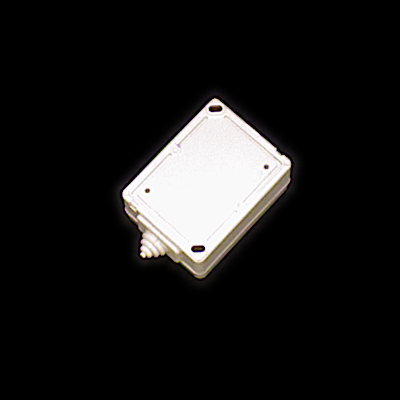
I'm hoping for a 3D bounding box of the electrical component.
[{"bbox_3d":[0.000,0.000,0.628,0.062,0.096,0.060,41,-12,11],"label":"electrical component"}]
